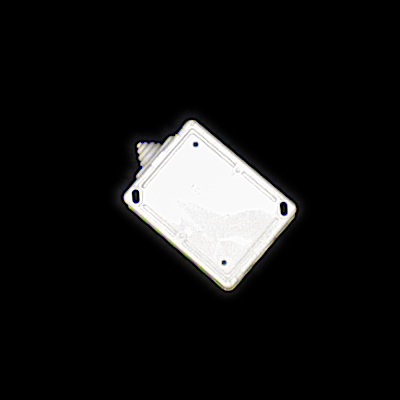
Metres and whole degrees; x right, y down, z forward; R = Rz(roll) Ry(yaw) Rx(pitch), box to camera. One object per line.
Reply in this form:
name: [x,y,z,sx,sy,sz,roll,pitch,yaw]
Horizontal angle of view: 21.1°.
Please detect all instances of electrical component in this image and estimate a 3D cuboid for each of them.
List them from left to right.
electrical component: [0.000,0.000,0.627,0.096,0.062,0.061,40,-4,5]
